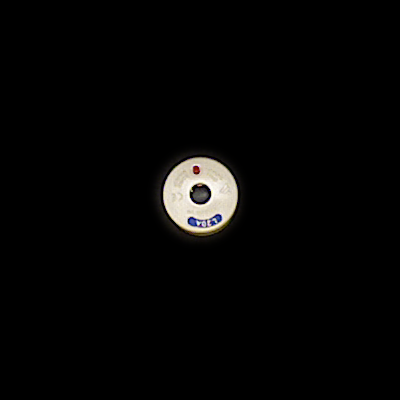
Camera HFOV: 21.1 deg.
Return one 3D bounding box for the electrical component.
[{"bbox_3d":[0.000,0.000,0.618,0.040,0.040,0.078,0,-6,1],"label":"electrical component"}]
